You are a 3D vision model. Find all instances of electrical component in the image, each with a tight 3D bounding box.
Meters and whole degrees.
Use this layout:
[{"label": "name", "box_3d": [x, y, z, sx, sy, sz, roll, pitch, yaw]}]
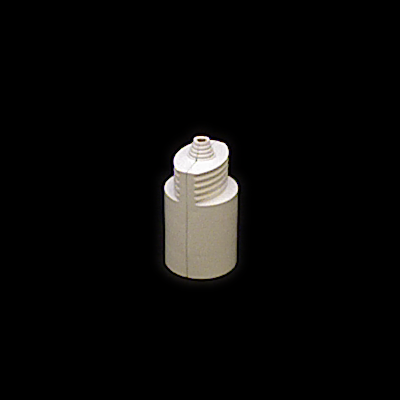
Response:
[{"label": "electrical component", "box_3d": [0.000, 0.000, 0.629, 0.043, 0.082, 0.042, 1, 31, 0]}]
